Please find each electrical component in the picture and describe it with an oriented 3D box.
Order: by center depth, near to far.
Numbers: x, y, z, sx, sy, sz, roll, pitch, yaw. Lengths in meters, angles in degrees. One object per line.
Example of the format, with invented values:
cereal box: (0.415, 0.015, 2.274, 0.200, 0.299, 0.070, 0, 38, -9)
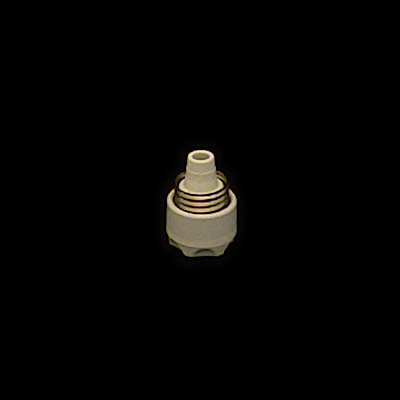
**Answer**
electrical component: (0.000, 0.000, 0.642, 0.043, 0.063, 0.043, 0, 31, 0)
